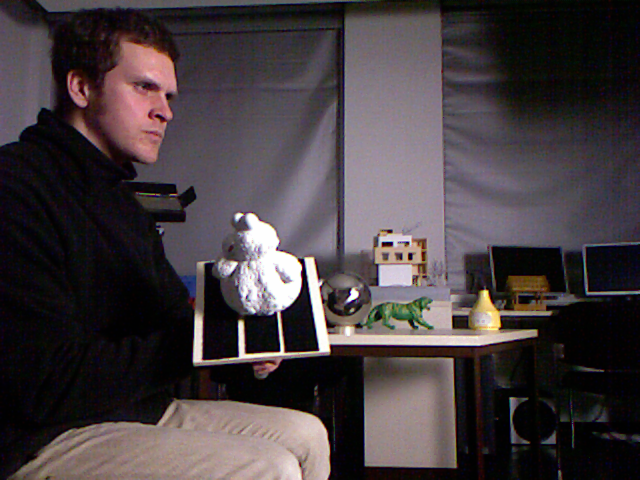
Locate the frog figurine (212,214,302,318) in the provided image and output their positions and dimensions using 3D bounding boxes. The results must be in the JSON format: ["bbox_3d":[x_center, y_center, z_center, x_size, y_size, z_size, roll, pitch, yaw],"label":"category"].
[{"bbox_3d":[-0.095,0.041,0.790,0.138,0.126,0.156,12,-42,7],"label":"frog figurine"}]
